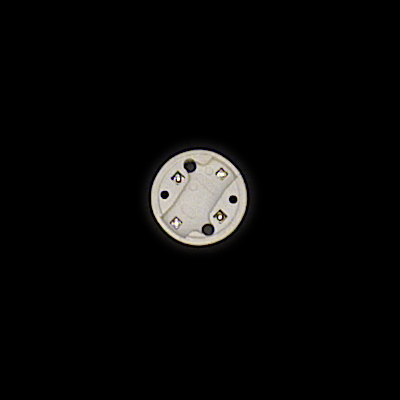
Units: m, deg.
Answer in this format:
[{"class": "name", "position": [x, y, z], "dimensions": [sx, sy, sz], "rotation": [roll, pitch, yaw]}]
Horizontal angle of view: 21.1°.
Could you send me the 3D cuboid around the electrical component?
[{"class": "electrical component", "position": [0.000, 0.000, 0.636], "dimensions": [0.055, 0.055, 0.047], "rotation": [0, -6, 0]}]
